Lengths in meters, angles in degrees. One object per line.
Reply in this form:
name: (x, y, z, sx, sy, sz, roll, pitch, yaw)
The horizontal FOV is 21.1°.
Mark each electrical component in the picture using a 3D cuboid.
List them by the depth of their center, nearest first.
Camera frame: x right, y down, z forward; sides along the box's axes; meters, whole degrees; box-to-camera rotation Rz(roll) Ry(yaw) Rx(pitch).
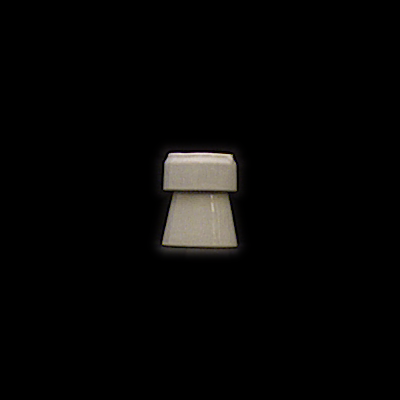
electrical component: (0.000, 0.000, 0.649, 0.045, 0.055, 0.045, 1, 1, 0)
